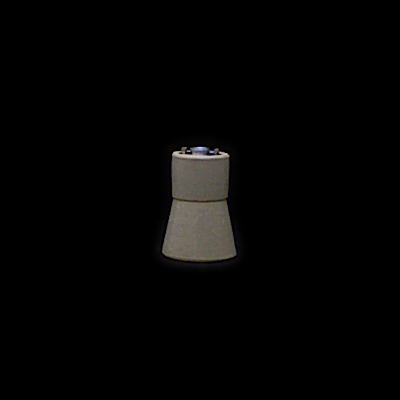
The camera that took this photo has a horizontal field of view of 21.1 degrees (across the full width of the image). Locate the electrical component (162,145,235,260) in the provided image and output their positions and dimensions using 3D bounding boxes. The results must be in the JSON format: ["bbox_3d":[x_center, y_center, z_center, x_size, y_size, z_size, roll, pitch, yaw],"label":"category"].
[{"bbox_3d":[0.000,0.000,0.645,0.044,0.066,0.044,1,10,0],"label":"electrical component"}]
